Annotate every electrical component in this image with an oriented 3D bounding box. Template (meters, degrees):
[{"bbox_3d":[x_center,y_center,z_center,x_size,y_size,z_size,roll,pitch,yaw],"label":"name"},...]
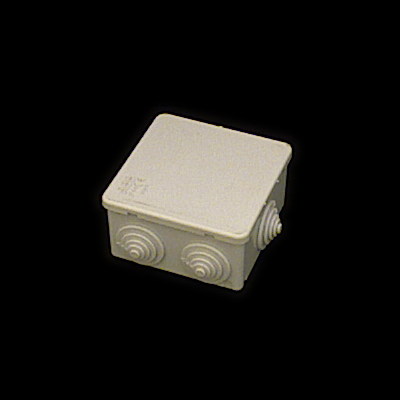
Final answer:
[{"bbox_3d":[0.000,0.000,0.641,0.099,0.049,0.099,15,45,15],"label":"electrical component"}]
